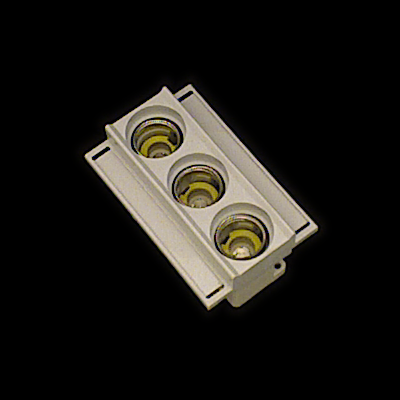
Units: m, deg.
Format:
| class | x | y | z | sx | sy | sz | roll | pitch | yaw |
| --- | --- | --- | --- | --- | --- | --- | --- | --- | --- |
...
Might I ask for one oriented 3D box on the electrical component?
| class | x | y | z | sx | sy | sz | roll | pitch | yaw |
| --- | --- | --- | --- | --- | --- | --- | --- | --- | --- |
| electrical component | 0.000 | 0.000 | 0.637 | 0.079 | 0.121 | 0.063 | -35 | -22 | -14 |
